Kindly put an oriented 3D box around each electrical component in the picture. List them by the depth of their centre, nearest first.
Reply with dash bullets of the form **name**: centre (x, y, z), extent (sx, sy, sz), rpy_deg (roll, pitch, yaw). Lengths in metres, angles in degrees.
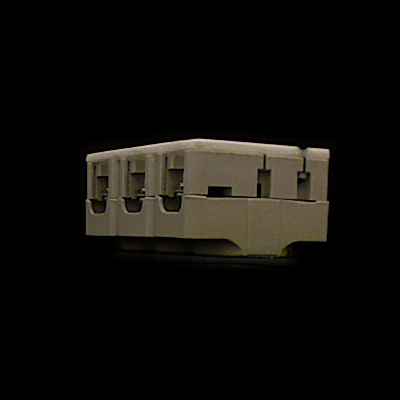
- **electrical component**: centre (0.000, 0.000, 0.655), extent (0.089, 0.062, 0.150), rpy_deg (1, 0, -29)
